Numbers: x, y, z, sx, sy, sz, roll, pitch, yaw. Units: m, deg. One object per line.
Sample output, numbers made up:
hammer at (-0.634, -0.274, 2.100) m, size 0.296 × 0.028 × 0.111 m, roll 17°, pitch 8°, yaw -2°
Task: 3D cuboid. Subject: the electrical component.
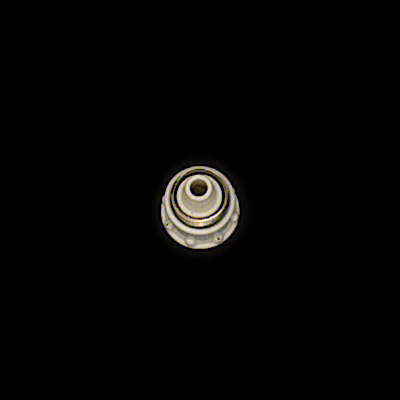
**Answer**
electrical component at (0.000, 0.000, 0.633) m, size 0.048 × 0.048 × 0.061 m, roll 0°, pitch -15°, yaw 1°
